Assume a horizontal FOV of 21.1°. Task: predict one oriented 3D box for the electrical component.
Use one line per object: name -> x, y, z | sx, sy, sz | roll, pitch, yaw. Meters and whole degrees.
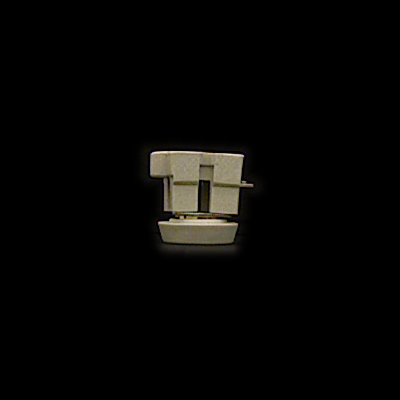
electrical component -> 0.000, 0.000, 0.655 | 0.067, 0.055, 0.048 | 2, 0, -12
